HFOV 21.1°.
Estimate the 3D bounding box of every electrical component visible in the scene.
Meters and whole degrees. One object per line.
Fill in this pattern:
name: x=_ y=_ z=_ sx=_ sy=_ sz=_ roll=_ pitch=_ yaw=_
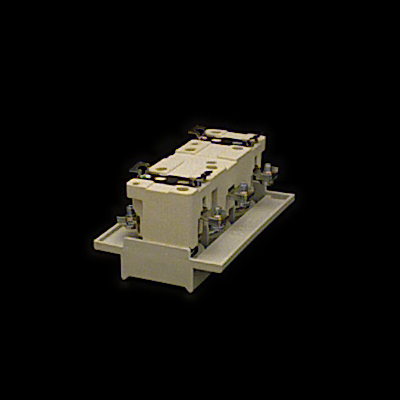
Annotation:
electrical component: x=0.000 y=0.000 z=0.646 sx=0.078 sy=0.064 sz=0.121 roll=9 pitch=23 yaw=21
